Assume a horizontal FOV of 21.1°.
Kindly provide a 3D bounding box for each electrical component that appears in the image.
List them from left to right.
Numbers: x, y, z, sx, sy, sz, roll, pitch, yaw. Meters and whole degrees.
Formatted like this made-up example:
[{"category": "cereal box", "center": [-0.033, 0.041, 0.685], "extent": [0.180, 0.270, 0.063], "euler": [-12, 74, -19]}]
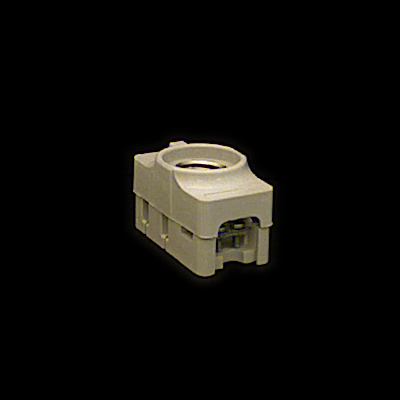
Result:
[{"category": "electrical component", "center": [0.000, 0.000, 0.647], "extent": [0.050, 0.056, 0.088], "euler": [-11, 25, -28]}]
